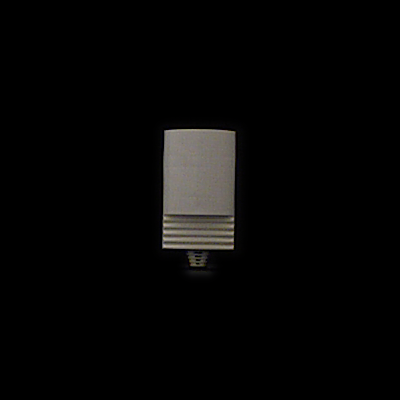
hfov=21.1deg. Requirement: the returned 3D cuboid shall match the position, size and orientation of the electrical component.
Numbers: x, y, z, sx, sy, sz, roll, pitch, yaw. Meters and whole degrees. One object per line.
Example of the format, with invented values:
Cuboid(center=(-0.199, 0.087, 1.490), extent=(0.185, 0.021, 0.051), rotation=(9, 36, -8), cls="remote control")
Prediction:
Cuboid(center=(0.000, 0.000, 0.647), extent=(0.043, 0.081, 0.043), rotation=(1, 0, 0), cls="electrical component")
